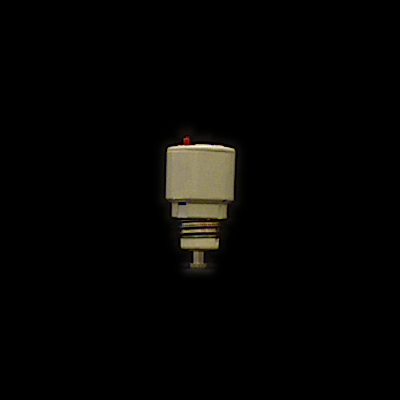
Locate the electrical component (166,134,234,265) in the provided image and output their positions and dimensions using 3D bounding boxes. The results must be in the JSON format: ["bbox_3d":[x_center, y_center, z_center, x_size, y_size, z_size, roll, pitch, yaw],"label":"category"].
[{"bbox_3d":[0.000,0.000,0.648,0.040,0.078,0.040,1,2,0],"label":"electrical component"}]
